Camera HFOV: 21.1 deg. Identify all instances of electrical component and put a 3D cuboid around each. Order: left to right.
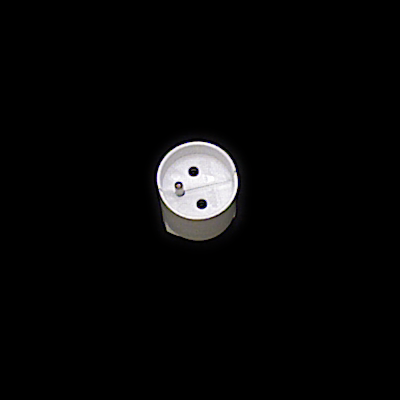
[{"bbox_3d":[0.000,0.000,0.614,0.043,0.043,0.080,0,-17,1],"label":"electrical component"}]
